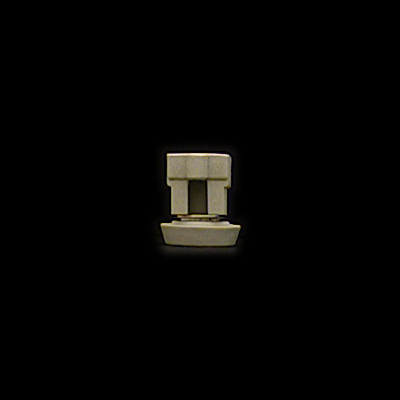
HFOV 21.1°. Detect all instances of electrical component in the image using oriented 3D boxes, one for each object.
[{"bbox_3d":[0.000,0.000,0.655,0.048,0.055,0.066,0,1,4],"label":"electrical component"}]
